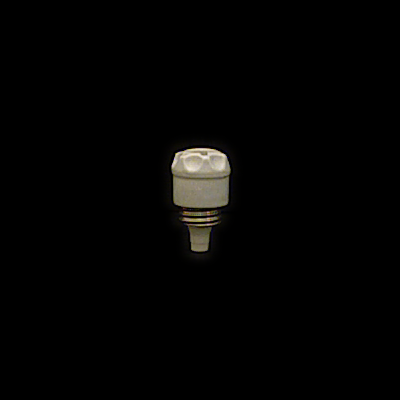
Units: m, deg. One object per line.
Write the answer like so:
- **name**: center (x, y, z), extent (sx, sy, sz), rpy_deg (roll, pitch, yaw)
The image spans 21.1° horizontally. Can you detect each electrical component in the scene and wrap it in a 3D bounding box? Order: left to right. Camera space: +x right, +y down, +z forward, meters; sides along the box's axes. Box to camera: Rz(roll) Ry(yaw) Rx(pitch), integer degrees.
- **electrical component**: center (0.000, 0.000, 0.648), extent (0.035, 0.062, 0.035), rpy_deg (1, 12, 0)
